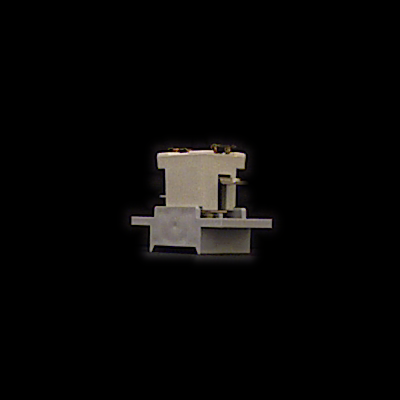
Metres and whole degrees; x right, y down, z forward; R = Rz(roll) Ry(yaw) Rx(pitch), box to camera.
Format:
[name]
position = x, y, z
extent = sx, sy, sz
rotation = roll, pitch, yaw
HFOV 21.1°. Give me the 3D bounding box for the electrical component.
[electrical component]
position = 0.000, 0.000, 0.649
extent = 0.042, 0.064, 0.080
rotation = 0, 1, -44
